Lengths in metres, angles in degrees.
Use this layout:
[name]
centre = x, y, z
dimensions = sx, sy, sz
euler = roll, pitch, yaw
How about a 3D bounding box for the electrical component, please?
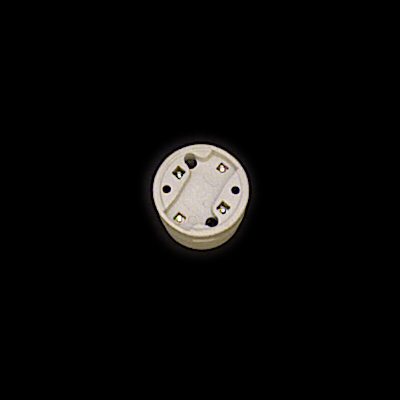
[electrical component]
centre = 0.000, 0.000, 0.634
dimensions = 0.055, 0.056, 0.047
euler = 0, -17, 0
